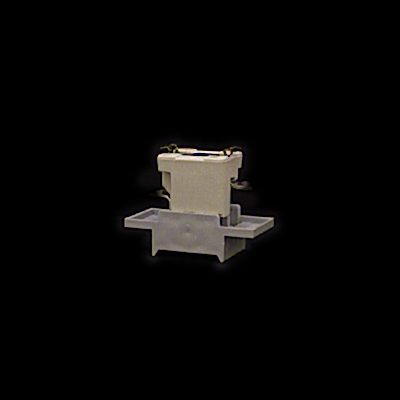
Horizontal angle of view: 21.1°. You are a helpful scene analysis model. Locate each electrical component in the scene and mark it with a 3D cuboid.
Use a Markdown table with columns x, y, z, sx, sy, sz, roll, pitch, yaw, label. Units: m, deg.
| x | y | z | sx | sy | sz | roll | pitch | yaw | label |
| --- | --- | --- | --- | --- | --- | --- | --- | --- | --- |
| 0.000 | 0.000 | 0.643 | 0.080 | 0.064 | 0.042 | 5 | 12 | 19 | electrical component |
